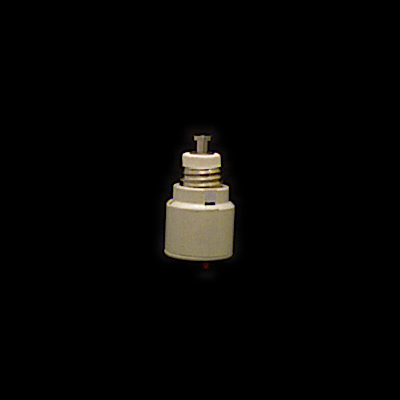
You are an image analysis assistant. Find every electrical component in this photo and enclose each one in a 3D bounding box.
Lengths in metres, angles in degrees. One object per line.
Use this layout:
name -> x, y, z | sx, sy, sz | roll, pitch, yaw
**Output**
electrical component -> 0.000, 0.000, 0.642 | 0.040, 0.079, 0.040 | 2, 10, 0
